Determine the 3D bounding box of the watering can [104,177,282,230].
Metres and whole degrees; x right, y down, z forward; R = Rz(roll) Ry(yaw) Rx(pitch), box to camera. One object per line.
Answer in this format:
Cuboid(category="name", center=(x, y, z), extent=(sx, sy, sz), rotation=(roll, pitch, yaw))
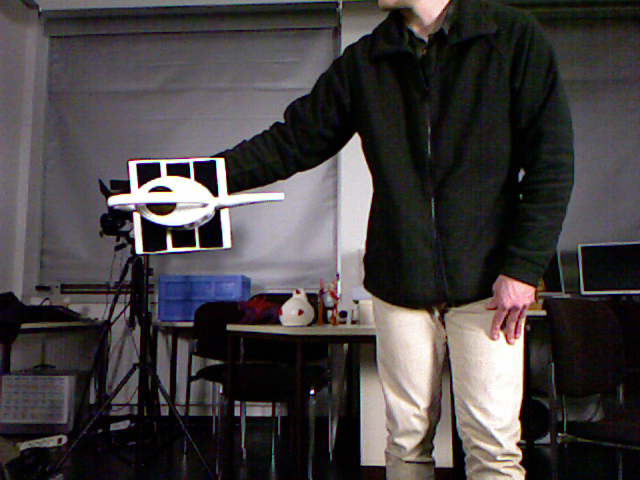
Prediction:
Cuboid(category="watering can", center=(-0.257, -0.075, 1.072), extent=(0.348, 0.104, 0.224), rotation=(-1, -1, -7))
